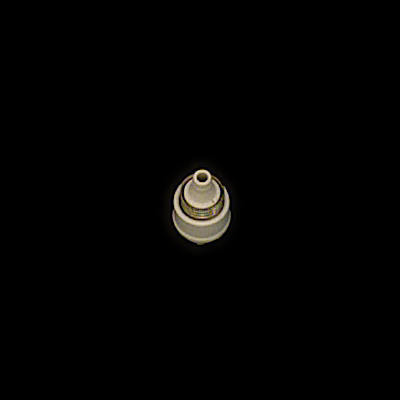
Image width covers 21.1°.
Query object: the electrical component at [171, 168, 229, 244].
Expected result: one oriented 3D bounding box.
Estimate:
[{"bbox_3d":[0.000,0.000,0.638,0.035,0.035,0.061,0,-27,-1],"label":"electrical component"}]
